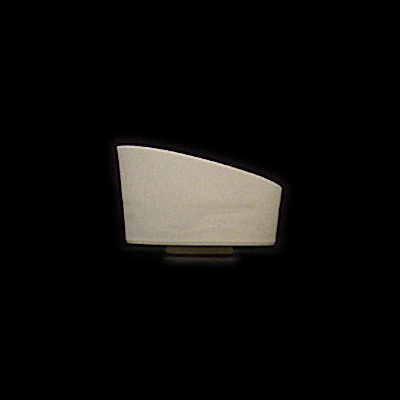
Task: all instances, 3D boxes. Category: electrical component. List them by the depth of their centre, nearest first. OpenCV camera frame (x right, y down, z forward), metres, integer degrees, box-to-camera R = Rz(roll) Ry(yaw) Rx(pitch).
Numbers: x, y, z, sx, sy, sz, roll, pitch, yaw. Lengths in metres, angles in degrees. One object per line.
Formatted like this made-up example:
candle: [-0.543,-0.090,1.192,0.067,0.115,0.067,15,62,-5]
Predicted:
electrical component: [0.000,0.000,0.648,0.099,0.064,0.099,1,0,0]
